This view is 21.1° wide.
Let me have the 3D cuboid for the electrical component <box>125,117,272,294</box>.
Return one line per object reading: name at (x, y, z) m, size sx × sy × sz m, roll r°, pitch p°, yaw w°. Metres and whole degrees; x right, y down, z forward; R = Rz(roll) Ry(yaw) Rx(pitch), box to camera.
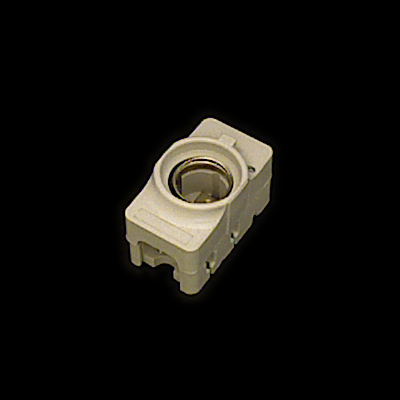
electrical component at (0.000, 0.000, 0.637) m, size 0.050 × 0.090 × 0.056 m, roll 27°, pitch -32°, yaw 19°
